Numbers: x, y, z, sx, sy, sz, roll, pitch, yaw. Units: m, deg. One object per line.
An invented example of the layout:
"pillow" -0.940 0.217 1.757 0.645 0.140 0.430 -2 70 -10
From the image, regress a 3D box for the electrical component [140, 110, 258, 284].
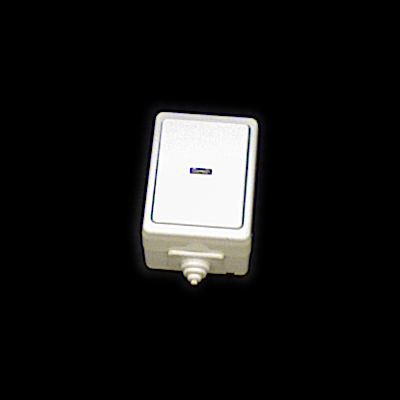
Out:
"electrical component" 0.000 0.000 0.625 0.062 0.096 0.060 4 -27 2
